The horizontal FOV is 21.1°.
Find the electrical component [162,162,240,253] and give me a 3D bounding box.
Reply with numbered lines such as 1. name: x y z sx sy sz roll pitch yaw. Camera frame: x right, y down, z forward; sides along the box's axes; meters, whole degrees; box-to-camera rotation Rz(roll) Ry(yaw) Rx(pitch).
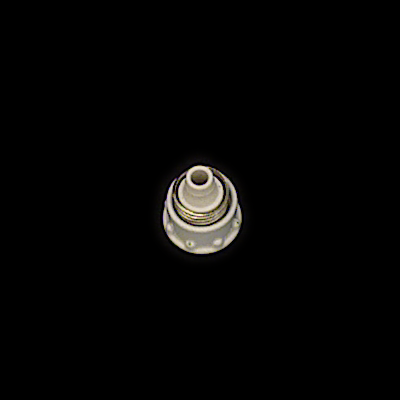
1. electrical component: 0.000 0.000 0.632 0.048 0.048 0.062 0 -26 2
